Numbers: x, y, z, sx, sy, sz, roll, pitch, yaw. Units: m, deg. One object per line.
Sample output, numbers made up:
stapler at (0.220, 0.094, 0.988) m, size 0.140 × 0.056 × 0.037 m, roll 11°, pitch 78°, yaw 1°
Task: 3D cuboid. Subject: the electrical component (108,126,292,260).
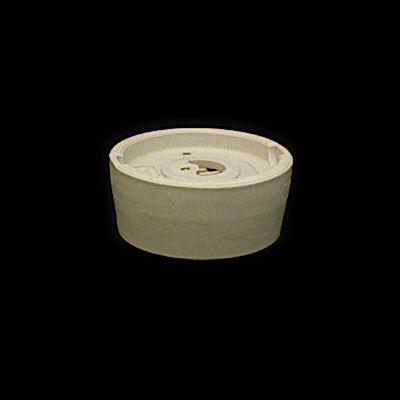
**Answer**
electrical component at (0.000, 0.000, 0.642) m, size 0.108 × 0.061 × 0.106 m, roll 2°, pitch 21°, yaw 0°
